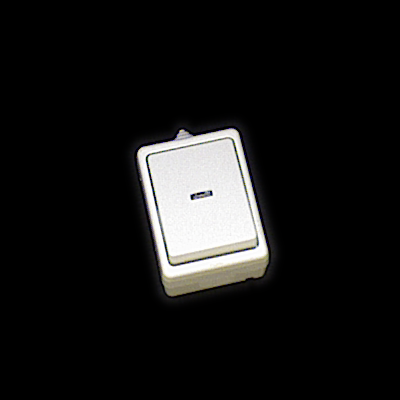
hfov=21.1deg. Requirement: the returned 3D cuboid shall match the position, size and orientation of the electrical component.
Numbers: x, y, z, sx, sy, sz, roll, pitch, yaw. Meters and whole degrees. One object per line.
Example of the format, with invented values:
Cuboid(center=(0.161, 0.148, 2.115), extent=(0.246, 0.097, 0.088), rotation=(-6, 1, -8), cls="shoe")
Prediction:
Cuboid(center=(0.000, 0.000, 0.626), extent=(0.062, 0.096, 0.060), rotation=(-12, -17, -4), cls="electrical component")
